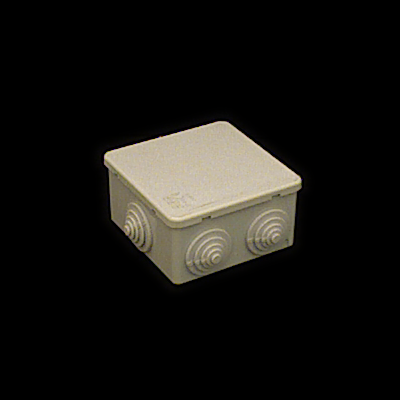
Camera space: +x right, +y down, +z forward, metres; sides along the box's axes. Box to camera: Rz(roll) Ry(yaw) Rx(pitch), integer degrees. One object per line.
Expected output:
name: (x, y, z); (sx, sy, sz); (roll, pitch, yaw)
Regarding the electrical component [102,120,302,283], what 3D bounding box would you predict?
electrical component: (0.000, 0.000, 0.643); (0.100, 0.049, 0.098); (-17, 37, -26)
